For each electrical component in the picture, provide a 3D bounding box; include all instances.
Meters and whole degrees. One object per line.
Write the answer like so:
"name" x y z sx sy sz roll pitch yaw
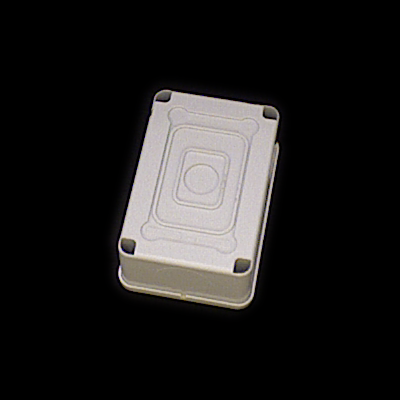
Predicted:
"electrical component" 0.000 0.000 0.628 0.078 0.113 0.057 10 -26 5
